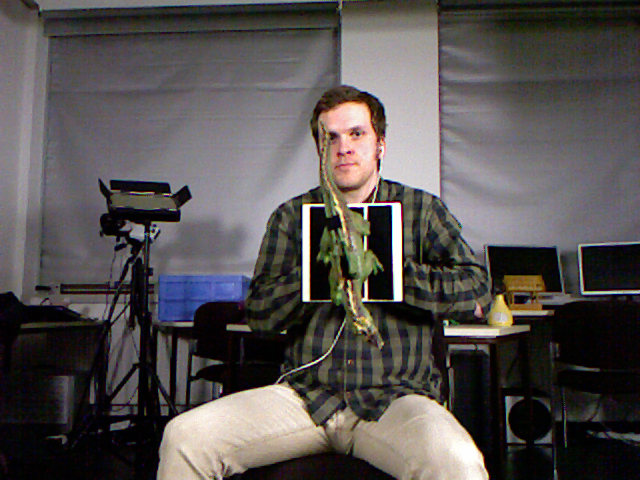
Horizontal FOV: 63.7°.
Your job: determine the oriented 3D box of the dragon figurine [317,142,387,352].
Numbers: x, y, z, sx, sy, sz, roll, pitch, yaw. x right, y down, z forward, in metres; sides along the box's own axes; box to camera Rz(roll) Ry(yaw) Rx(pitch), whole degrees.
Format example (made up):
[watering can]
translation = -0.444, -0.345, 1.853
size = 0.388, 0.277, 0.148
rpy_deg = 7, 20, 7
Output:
[dragon figurine]
translation = 0.043, -0.002, 0.931
size = 0.123, 0.414, 0.243
rpy_deg = -16, -5, 2
